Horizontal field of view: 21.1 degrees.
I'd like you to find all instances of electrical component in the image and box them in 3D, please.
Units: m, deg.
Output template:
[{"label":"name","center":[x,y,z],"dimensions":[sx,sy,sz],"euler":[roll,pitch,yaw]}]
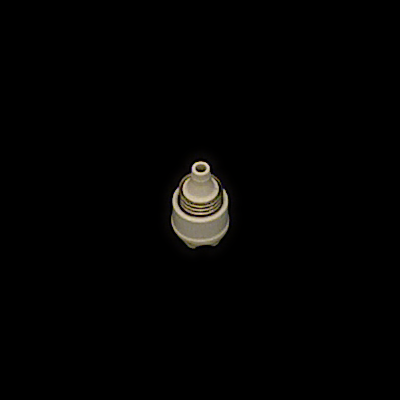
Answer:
[{"label":"electrical component","center":[0.000,0.000,0.639],"dimensions":[0.035,0.035,0.062],"euler":[0,-38,-1]}]
